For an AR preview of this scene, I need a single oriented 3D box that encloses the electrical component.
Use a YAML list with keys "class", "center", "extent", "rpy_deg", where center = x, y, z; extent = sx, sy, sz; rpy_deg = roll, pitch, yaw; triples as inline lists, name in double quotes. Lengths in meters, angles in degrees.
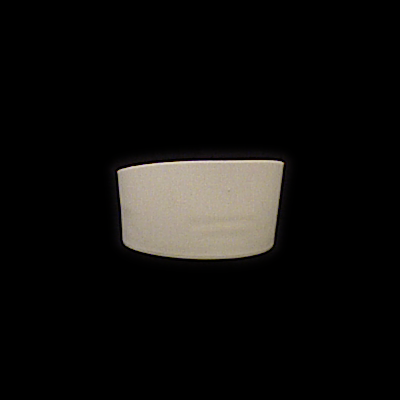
- class: "electrical component"
  center: [0.000, 0.000, 0.643]
  extent: [0.099, 0.064, 0.098]
  rpy_deg: [2, 11, 0]
